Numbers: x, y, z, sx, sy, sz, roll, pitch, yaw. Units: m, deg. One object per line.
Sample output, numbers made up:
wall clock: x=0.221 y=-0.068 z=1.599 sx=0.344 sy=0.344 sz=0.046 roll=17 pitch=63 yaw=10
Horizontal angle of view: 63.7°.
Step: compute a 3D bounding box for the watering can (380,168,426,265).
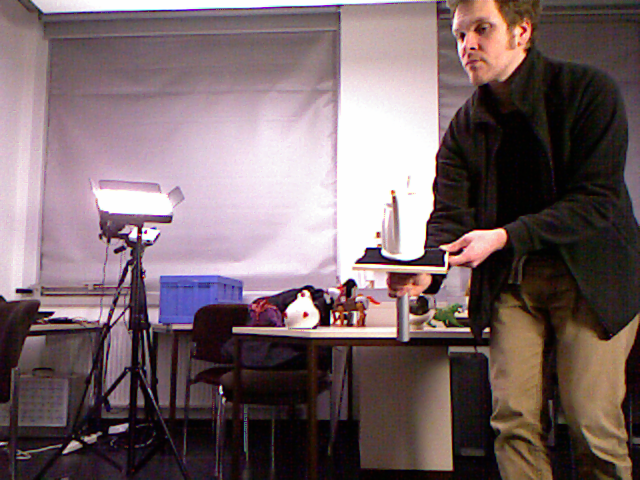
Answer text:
watering can: x=0.184 y=-0.045 z=1.161 sx=0.104 sy=0.223 sz=0.352 roll=3 pitch=12 yaw=15
